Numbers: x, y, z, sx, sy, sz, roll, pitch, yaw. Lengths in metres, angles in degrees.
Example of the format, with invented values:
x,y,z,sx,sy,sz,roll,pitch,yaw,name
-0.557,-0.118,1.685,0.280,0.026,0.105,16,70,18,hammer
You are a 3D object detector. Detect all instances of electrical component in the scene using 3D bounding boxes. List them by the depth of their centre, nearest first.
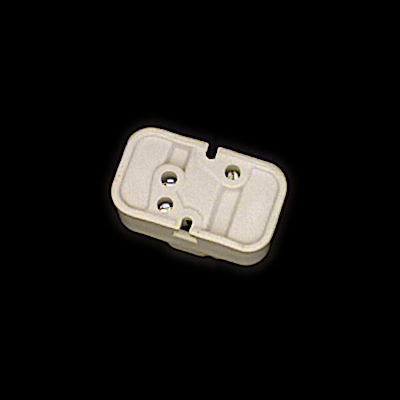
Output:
x,y,z,sx,sy,sz,roll,pitch,yaw,name
0.000,0.000,0.635,0.095,0.054,0.059,18,-15,4,electrical component
